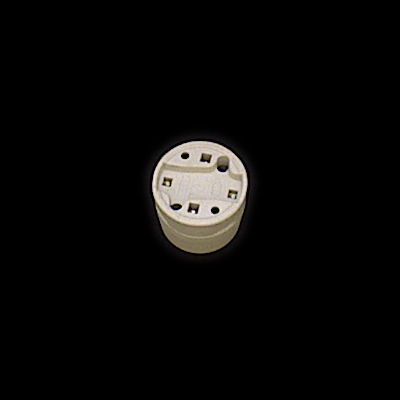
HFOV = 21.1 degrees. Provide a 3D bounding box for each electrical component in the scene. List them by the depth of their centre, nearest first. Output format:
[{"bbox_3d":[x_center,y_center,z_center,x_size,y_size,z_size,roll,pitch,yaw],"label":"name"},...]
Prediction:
[{"bbox_3d":[0.000,0.000,0.634,0.055,0.056,0.047,0,-27,-1],"label":"electrical component"}]
